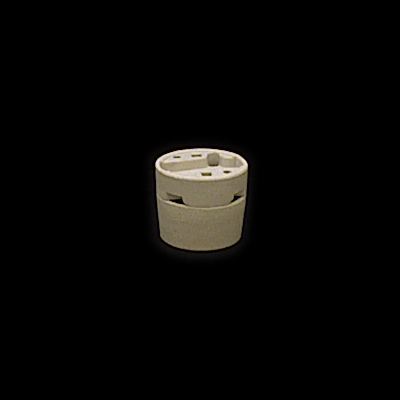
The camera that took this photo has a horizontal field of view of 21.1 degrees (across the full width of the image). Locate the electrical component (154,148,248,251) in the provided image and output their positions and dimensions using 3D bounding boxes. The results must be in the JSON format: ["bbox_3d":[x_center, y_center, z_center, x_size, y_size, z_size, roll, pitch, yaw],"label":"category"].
[{"bbox_3d":[0.000,0.000,0.640,0.055,0.047,0.055,1,21,0],"label":"electrical component"}]
